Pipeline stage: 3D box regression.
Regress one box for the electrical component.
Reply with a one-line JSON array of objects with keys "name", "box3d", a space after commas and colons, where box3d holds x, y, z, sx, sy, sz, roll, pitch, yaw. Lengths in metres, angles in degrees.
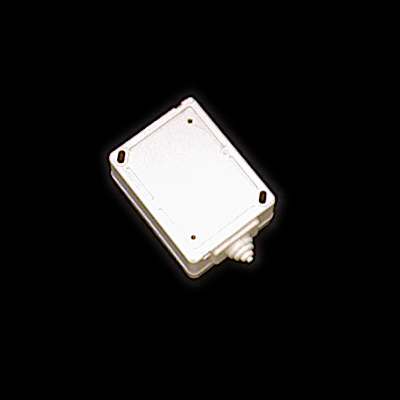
[{"name": "electrical component", "box3d": [0.000, 0.000, 0.627, 0.062, 0.096, 0.060, -37, -13, -10]}]
